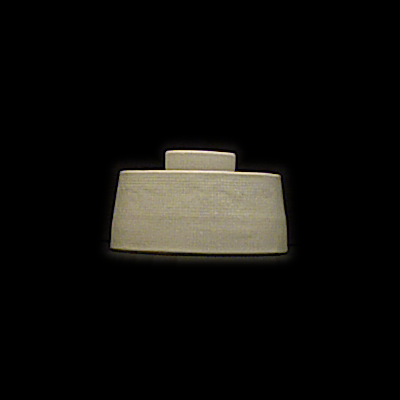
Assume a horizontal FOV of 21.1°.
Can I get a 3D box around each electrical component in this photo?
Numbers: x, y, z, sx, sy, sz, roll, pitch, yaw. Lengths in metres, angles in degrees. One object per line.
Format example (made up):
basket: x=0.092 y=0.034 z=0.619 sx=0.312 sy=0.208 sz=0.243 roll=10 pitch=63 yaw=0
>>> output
electrical component: x=0.000 y=0.000 z=0.655 sx=0.108 sy=0.060 sz=0.108 roll=1 pitch=1 yaw=1
